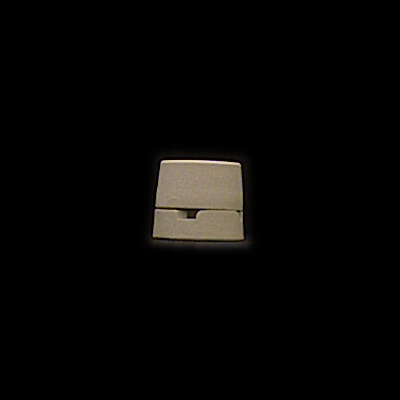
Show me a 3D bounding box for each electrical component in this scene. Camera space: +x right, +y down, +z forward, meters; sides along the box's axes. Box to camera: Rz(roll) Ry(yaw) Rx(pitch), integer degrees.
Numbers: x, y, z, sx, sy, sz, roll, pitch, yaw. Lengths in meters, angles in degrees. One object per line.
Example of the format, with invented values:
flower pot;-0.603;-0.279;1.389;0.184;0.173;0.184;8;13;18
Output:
electrical component;0.000;0.000;0.651;0.055;0.047;0.055;2;0;0
